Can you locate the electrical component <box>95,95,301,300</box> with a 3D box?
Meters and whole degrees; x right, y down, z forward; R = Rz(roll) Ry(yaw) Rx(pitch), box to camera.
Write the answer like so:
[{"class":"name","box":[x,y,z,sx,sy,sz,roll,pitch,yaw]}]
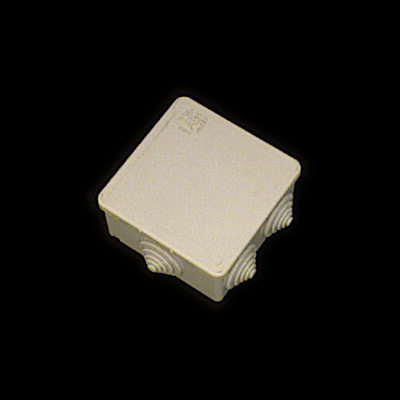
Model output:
[{"class":"electrical component","box":[0.000,0.000,0.640,0.099,0.100,0.048,32,-22,15]}]
